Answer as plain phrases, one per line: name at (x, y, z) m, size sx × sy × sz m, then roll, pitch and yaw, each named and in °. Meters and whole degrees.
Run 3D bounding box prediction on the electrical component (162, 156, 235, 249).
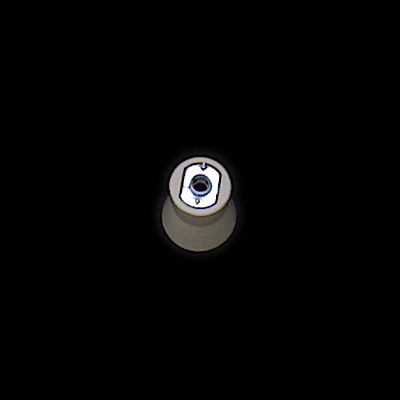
electrical component at (0.000, 0.000, 0.624) m, size 0.044 × 0.044 × 0.065 m, roll 0°, pitch -17°, yaw -1°
